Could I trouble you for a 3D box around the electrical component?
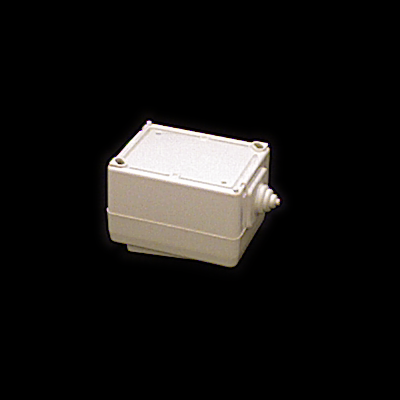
[{"bbox_3d":[0.000,0.000,0.632,0.096,0.061,0.061,12,33,16],"label":"electrical component"}]
